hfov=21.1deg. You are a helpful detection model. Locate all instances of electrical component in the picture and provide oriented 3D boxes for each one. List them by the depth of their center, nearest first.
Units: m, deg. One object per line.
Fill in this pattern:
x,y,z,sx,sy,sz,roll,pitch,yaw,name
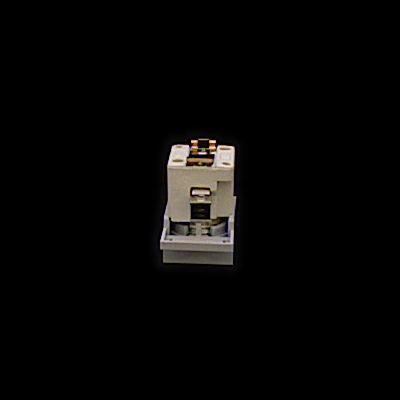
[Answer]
0.000,0.000,0.639,0.042,0.064,0.080,2,21,2,electrical component
